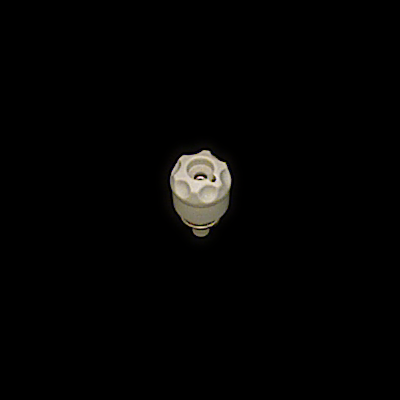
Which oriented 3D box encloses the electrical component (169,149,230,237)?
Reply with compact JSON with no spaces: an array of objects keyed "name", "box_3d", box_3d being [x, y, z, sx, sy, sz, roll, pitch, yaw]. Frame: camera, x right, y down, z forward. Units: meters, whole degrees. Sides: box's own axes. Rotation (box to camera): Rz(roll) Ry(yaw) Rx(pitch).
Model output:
[{"name":"electrical component","box_3d":[0.000,0.000,0.633,0.035,0.035,0.061,0,-37,0]}]
